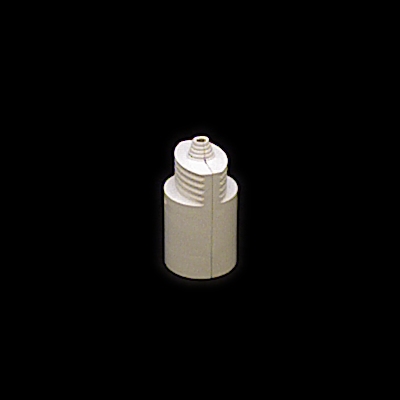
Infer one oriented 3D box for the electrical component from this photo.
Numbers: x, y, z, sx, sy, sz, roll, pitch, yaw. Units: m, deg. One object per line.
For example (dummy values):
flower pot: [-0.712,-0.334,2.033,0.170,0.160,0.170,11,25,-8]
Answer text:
electrical component: [0.000,0.000,0.629,0.043,0.082,0.042,1,31,0]
